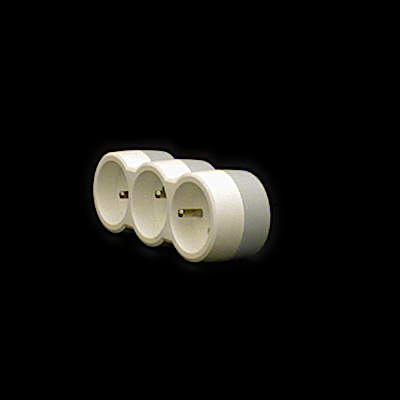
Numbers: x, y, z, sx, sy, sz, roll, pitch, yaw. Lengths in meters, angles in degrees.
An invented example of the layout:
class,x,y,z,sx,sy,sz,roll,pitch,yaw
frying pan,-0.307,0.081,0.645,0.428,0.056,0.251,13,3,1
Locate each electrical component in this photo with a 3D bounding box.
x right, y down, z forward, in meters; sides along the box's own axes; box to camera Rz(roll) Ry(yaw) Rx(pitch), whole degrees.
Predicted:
class,x,y,z,sx,sy,sz,roll,pitch,yaw
electrical component,0.000,0.000,0.652,0.074,0.052,0.136,-5,13,-35
